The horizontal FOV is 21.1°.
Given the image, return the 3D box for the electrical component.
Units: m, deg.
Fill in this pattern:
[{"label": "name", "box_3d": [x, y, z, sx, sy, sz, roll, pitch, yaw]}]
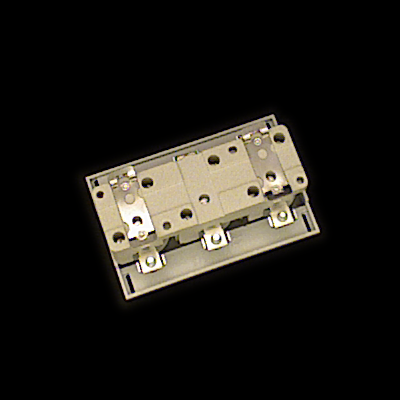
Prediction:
[{"label": "electrical component", "box_3d": [0.000, 0.000, 0.634, 0.122, 0.078, 0.063, -19, -16, -5]}]
